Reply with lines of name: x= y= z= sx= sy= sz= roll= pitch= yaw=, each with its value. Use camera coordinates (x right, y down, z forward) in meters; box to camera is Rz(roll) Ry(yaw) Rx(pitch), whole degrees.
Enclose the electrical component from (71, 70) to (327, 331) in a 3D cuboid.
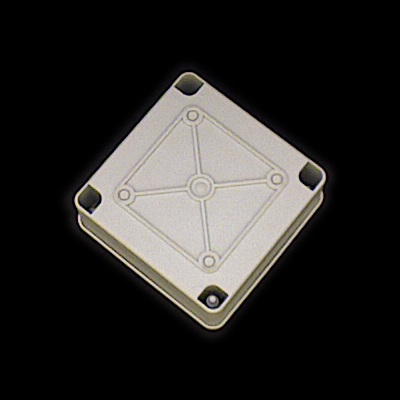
electrical component: x=0.000 y=0.000 z=0.627 sx=0.109 sy=0.109 sz=0.056 roll=38 pitch=-13 yaw=11
